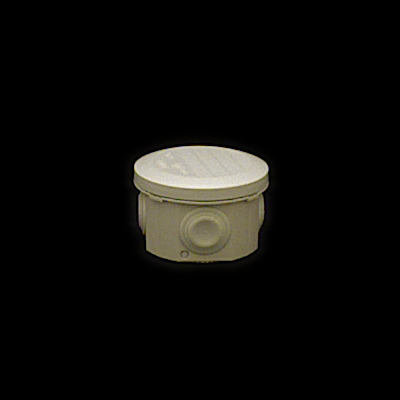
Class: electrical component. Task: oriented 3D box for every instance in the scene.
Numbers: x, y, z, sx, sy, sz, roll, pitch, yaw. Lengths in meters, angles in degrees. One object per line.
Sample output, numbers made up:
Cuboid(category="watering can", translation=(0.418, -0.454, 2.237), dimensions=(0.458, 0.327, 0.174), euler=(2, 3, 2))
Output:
Cuboid(category="electrical component", translation=(0.000, 0.000, 0.642), dimensions=(0.080, 0.051, 0.079), euler=(1, 21, 0))
